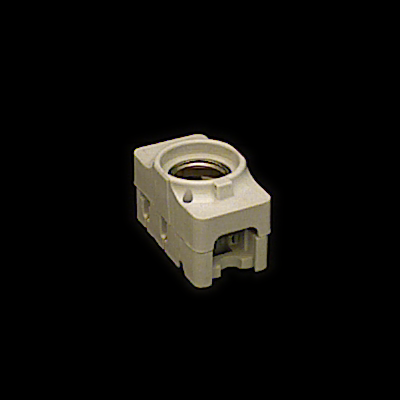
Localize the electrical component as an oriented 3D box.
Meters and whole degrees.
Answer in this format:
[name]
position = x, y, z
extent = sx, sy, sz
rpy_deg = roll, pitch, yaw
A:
[electrical component]
position = 0.000, 0.000, 0.642
extent = 0.050, 0.056, 0.088
rpy_deg = -15, 35, -24
